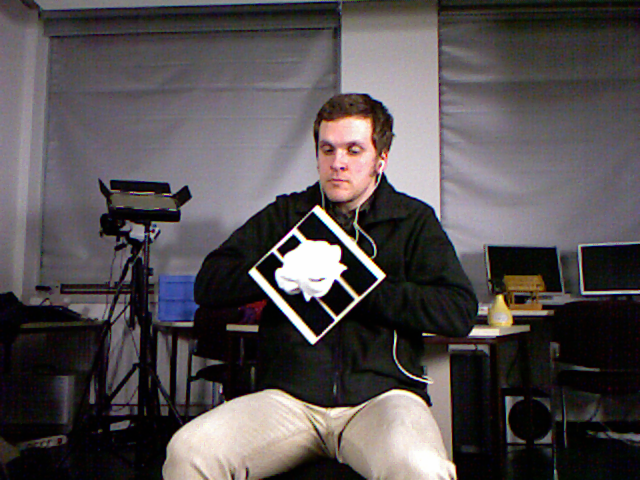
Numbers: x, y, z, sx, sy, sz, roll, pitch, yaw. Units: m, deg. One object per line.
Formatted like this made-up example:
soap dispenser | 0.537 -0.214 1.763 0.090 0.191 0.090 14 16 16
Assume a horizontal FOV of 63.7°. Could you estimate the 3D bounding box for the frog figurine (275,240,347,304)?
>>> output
frog figurine | -0.022 0.056 0.975 0.137 0.124 0.159 -23 -12 7
